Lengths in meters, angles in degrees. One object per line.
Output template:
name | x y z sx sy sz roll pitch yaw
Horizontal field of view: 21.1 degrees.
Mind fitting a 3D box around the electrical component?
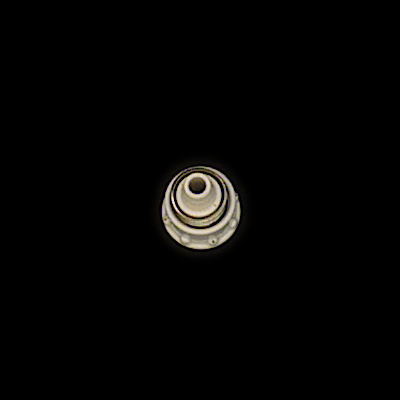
electrical component | 0.000 0.000 0.633 0.048 0.048 0.061 0 -17 1
